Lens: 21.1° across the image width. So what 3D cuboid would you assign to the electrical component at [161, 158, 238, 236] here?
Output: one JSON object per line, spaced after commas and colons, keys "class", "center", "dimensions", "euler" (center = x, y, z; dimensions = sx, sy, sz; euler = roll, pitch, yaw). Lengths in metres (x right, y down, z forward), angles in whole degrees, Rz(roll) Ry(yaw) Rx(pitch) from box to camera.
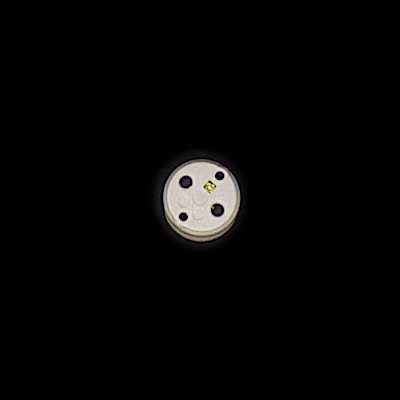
{"class": "electrical component", "center": [0.000, 0.000, 0.629], "dimensions": [0.045, 0.045, 0.055], "euler": [0, -6, 0]}
